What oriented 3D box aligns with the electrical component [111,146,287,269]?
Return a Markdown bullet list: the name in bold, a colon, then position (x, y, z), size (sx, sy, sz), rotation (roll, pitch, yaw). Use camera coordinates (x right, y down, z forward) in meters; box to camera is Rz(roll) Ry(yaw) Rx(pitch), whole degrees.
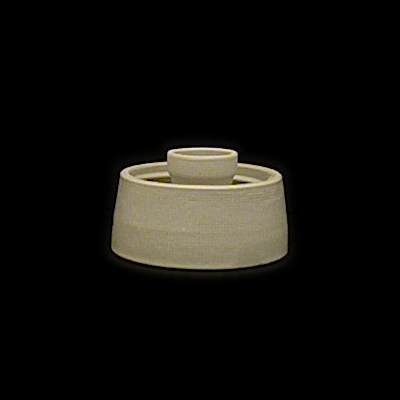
- **electrical component**: position (0.000, 0.000, 0.650), size (0.108, 0.061, 0.107), rotation (1, 11, 0)
